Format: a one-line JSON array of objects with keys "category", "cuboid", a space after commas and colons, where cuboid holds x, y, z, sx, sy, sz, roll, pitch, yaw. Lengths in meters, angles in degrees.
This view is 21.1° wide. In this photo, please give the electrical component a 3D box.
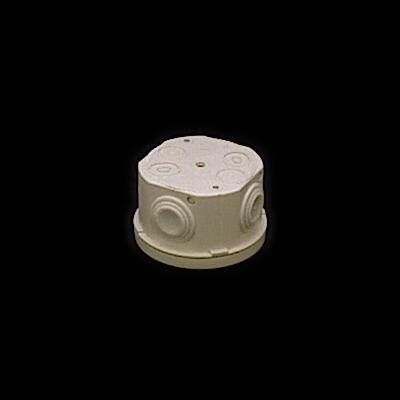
[{"category": "electrical component", "cuboid": [0.000, 0.000, 0.638, 0.080, 0.051, 0.079, 1, 31, 0]}]
